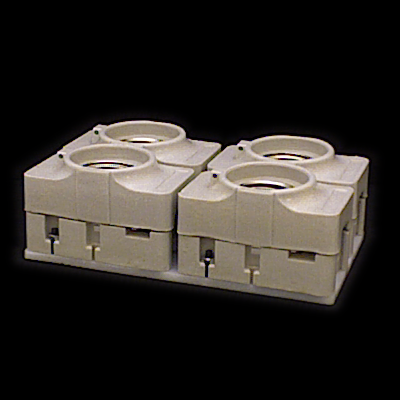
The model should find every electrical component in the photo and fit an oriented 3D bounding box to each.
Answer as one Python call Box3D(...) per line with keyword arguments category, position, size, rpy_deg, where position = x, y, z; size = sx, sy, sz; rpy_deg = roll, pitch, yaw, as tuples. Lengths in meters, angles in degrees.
Box3D(category="electrical component", position=(0.000, 0.000, 0.637), size=(0.186, 0.061, 0.104), rpy_deg=(7, 21, 16))
